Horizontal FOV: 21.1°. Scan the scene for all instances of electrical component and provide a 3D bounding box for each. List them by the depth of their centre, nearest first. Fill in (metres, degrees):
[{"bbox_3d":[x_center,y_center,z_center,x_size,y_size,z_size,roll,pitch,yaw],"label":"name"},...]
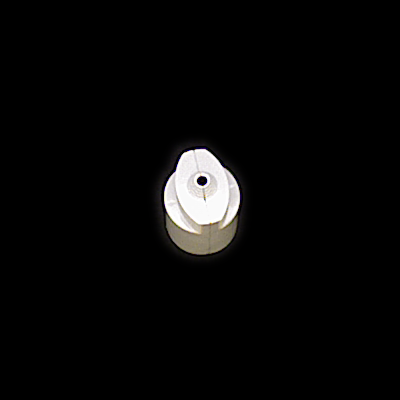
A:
[{"bbox_3d":[0.000,0.000,0.616,0.043,0.043,0.080,0,-17,0],"label":"electrical component"}]
